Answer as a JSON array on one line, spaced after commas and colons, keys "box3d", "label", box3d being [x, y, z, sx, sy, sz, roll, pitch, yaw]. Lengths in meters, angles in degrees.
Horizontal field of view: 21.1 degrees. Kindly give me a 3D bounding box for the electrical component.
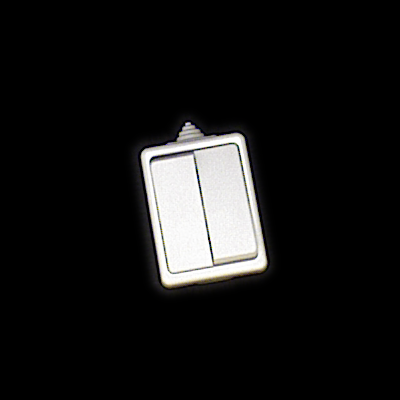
[{"box3d": [0.000, 0.000, 0.627, 0.062, 0.096, 0.061, -10, -7, -1], "label": "electrical component"}]
